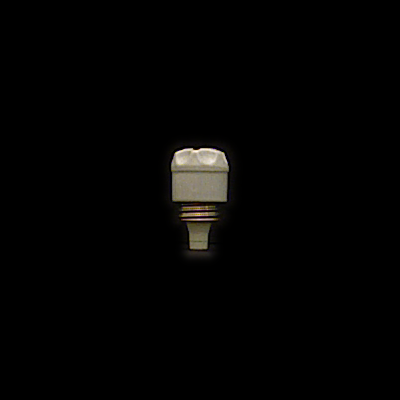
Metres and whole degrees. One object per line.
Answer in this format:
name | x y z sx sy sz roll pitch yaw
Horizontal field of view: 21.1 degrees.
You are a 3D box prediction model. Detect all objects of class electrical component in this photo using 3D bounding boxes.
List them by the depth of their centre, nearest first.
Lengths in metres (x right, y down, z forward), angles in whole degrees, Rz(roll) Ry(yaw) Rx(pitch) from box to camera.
electrical component | 0.000 0.000 0.655 0.035 0.061 0.035 1 1 1
